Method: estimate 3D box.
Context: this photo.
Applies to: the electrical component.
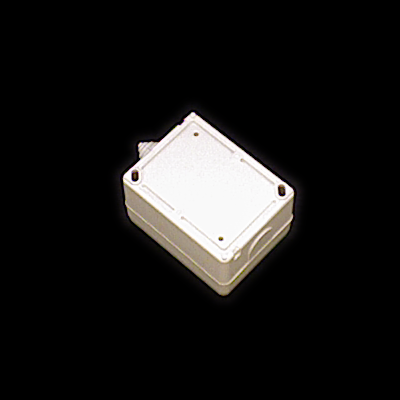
[{"bbox_3d":[0.000,0.000,0.629,0.096,0.062,0.061,39,-21,18],"label":"electrical component"}]
